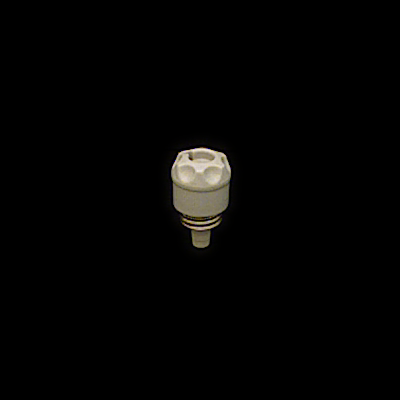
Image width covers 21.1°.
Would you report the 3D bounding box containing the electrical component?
[{"bbox_3d":[0.000,0.000,0.643,0.035,0.062,0.034,1,32,0],"label":"electrical component"}]
